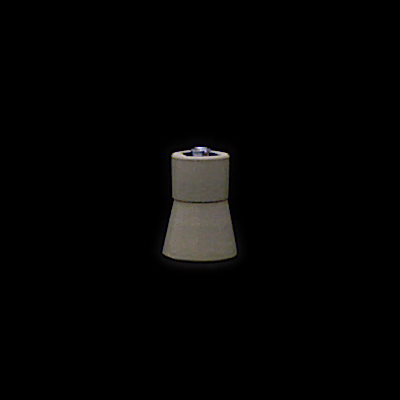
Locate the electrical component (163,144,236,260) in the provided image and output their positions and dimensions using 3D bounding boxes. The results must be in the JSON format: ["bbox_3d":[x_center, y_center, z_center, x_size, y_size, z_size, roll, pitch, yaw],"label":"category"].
[{"bbox_3d":[0.000,0.000,0.644,0.044,0.066,0.044,0,12,0],"label":"electrical component"}]
